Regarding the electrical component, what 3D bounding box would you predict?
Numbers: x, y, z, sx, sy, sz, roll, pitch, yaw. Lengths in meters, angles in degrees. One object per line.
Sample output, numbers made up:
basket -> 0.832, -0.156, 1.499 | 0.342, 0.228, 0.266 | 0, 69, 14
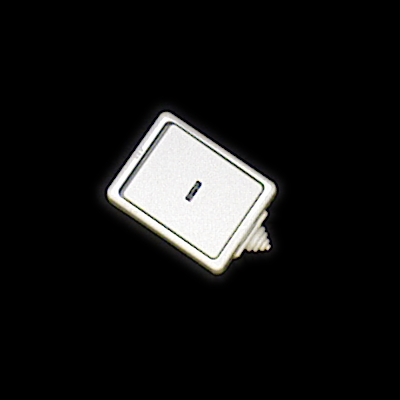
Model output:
electrical component -> 0.000, 0.000, 0.626 | 0.096, 0.062, 0.061 | 34, -5, 4
